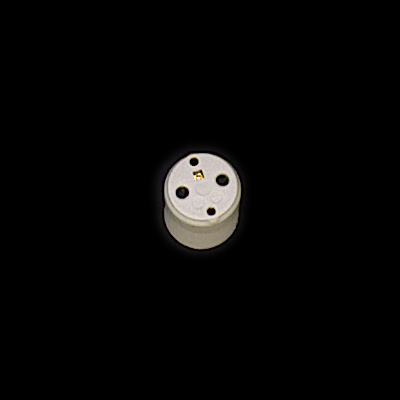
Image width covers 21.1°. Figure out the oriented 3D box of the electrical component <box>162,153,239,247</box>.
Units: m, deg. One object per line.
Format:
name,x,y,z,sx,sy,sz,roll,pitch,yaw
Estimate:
electrical component,0.000,0.000,0.629,0.045,0.045,0.055,0,-16,0
